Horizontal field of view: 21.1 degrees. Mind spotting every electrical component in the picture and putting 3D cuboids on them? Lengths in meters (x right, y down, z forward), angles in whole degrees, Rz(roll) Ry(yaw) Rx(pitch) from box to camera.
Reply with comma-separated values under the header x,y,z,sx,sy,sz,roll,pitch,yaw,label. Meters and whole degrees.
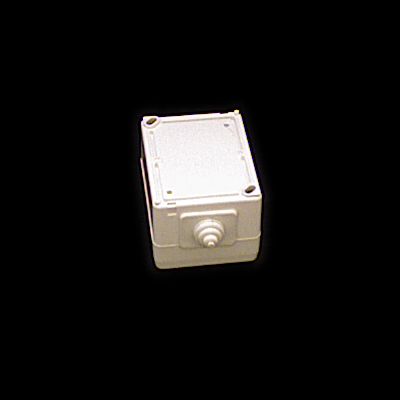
x,y,z,sx,sy,sz,roll,pitch,yaw,label
0.000,0.000,0.630,0.062,0.061,0.095,-5,43,-6,electrical component
